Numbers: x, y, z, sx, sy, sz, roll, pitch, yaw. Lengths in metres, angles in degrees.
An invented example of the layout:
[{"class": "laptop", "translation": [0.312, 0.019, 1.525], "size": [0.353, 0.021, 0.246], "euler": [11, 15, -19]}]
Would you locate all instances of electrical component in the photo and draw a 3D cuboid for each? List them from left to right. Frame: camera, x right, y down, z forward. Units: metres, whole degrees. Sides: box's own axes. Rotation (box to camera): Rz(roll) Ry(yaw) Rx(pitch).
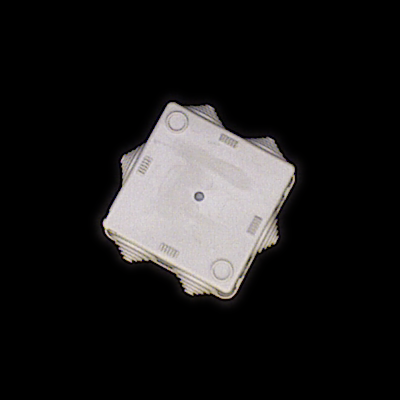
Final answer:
[{"class": "electrical component", "translation": [0.000, 0.000, 0.632], "size": [0.100, 0.100, 0.048], "euler": [28, -6, 3]}]
